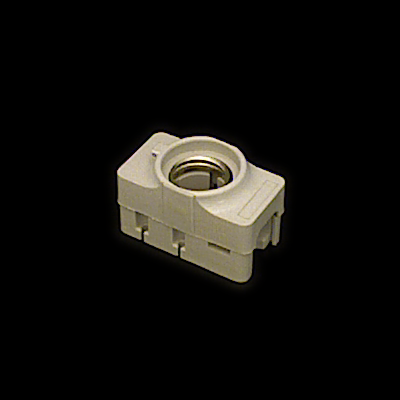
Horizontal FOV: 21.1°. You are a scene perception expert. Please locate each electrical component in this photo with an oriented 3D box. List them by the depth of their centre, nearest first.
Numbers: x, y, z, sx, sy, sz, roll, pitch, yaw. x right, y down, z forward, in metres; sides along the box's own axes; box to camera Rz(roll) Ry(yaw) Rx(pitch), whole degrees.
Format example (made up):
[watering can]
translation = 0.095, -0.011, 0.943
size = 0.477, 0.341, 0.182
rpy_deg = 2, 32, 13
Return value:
[electrical component]
translation = 0.000, 0.000, 0.640
size = 0.089, 0.056, 0.050
rpy_deg = 22, 47, 21
